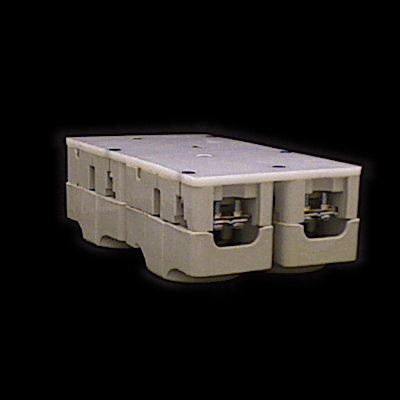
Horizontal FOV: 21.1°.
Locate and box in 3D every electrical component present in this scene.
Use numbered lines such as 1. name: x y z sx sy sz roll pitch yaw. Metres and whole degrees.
1. electrical component: 0.000 0.000 0.644 0.105 0.061 0.184 -4 11 -28
